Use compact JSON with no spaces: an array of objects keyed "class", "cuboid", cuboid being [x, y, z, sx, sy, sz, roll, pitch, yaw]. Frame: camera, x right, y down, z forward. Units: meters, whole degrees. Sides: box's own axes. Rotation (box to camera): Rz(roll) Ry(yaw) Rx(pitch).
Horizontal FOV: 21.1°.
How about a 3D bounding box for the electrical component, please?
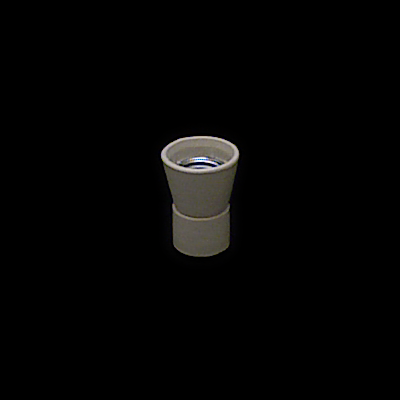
[{"class":"electrical component","cuboid":[0.000,0.000,0.633,0.044,0.066,0.044,0,31,0]}]
